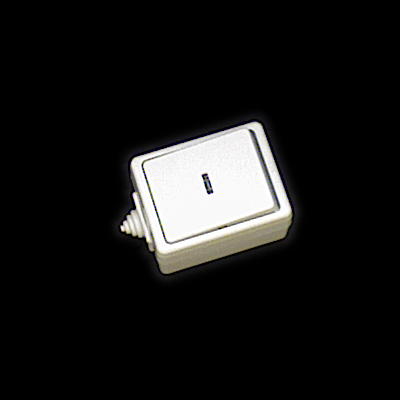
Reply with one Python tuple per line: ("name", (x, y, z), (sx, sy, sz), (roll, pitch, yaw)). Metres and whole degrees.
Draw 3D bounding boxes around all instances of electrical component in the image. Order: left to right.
("electrical component", (0.000, 0.000, 0.626), (0.096, 0.062, 0.060), (-17, -16, -5))
